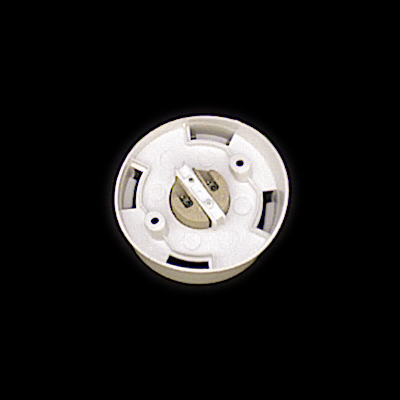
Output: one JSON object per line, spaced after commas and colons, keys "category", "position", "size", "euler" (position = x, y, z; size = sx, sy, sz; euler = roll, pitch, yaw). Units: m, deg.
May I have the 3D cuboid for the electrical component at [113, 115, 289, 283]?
{"category": "electrical component", "position": [0.000, 0.000, 0.623], "size": [0.099, 0.099, 0.064], "euler": [0, -16, -1]}
